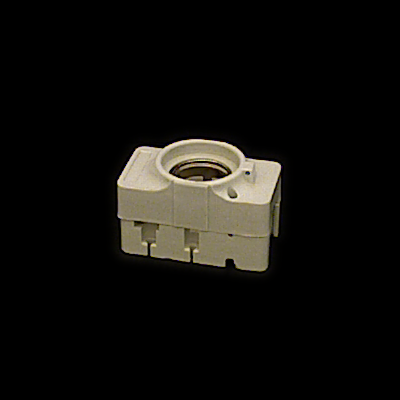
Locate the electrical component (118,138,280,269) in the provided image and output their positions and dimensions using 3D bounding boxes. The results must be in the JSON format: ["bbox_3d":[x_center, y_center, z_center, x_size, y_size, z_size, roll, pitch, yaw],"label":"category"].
[{"bbox_3d":[0.000,0.000,0.642,0.089,0.056,0.050,7,33,9],"label":"electrical component"}]
